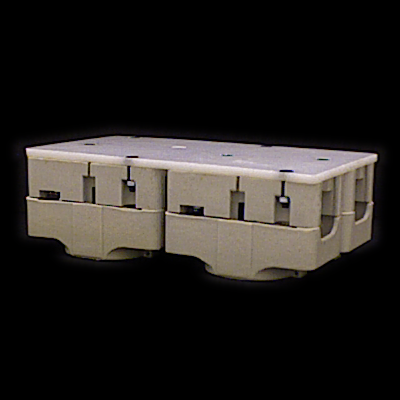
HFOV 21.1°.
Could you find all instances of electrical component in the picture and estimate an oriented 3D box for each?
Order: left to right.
[{"bbox_3d":[0.000,0.000,0.644,0.185,0.060,0.105,6,11,26],"label":"electrical component"}]
